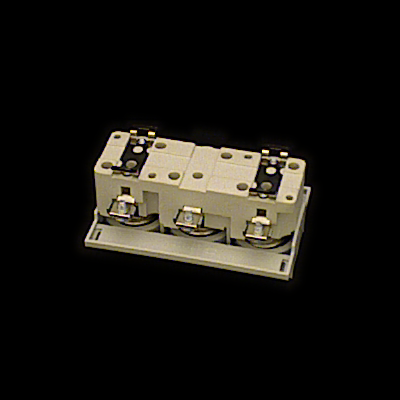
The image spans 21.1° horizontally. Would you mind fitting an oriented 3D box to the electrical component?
[{"bbox_3d":[0.000,0.000,0.640,0.121,0.063,0.078,9,42,9],"label":"electrical component"}]
